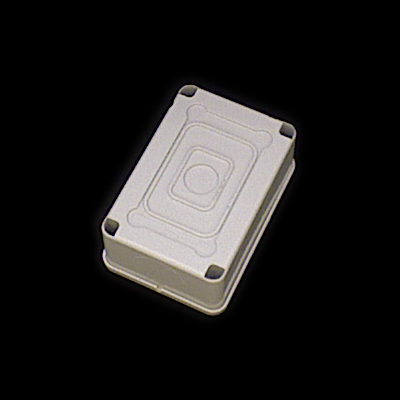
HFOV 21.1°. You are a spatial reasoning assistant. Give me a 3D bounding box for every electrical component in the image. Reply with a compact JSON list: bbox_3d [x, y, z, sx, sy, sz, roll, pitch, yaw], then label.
[{"bbox_3d":[0.000,0.000,0.628,0.078,0.113,0.057,23,-24,11],"label":"electrical component"}]
